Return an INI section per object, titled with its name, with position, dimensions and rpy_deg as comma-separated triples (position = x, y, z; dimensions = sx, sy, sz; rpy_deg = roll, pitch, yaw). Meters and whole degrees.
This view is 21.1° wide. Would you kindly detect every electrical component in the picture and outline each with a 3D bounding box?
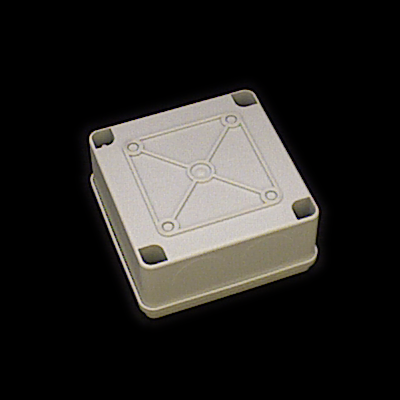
[electrical component]
position = 0.000, 0.000, 0.629
dimensions = 0.109, 0.108, 0.056
rpy_deg = -17, -36, -12
